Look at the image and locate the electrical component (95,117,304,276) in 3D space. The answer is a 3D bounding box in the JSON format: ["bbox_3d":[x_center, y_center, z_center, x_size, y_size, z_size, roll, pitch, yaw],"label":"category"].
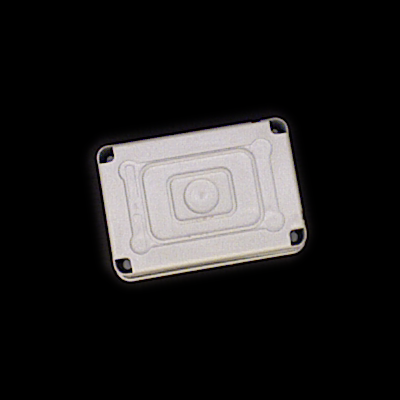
[{"bbox_3d":[0.000,0.000,0.629,0.113,0.078,0.057,-9,-6,0],"label":"electrical component"}]
